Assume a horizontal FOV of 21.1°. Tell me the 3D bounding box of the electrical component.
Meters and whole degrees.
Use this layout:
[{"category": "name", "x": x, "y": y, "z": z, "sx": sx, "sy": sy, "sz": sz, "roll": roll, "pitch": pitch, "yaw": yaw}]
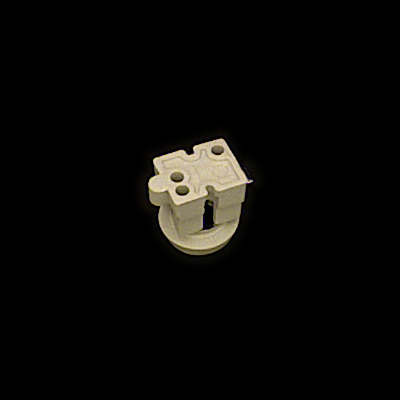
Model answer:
[{"category": "electrical component", "x": 0.000, "y": 0.000, "z": 0.637, "sx": 0.067, "sy": 0.048, "sz": 0.055, "roll": -18, "pitch": -36, "yaw": -15}]
